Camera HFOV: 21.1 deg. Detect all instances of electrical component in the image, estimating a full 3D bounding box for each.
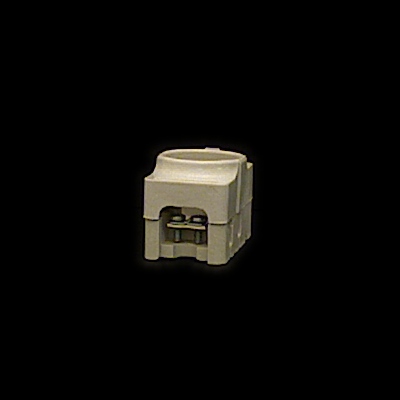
[{"bbox_3d":[0.000,0.000,0.652,0.050,0.056,0.089,4,12,11],"label":"electrical component"}]
